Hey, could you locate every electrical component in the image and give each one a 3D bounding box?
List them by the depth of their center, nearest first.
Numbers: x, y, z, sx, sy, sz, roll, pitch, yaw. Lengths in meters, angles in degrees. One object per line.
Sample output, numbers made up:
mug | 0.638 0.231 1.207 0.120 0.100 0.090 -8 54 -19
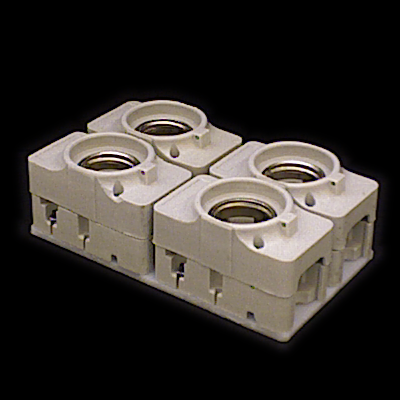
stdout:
electrical component | 0.000 0.000 0.634 0.185 0.061 0.105 21 36 29
